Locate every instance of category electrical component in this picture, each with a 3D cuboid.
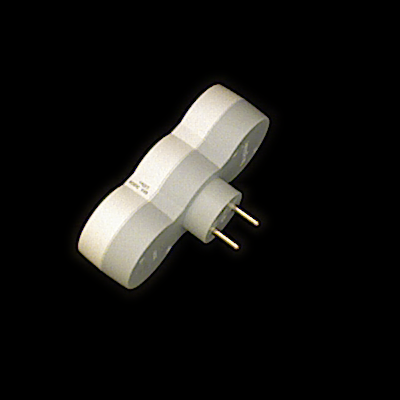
[{"bbox_3d":[0.000,0.000,0.636,0.073,0.139,0.052,36,-22,14],"label":"electrical component"}]
